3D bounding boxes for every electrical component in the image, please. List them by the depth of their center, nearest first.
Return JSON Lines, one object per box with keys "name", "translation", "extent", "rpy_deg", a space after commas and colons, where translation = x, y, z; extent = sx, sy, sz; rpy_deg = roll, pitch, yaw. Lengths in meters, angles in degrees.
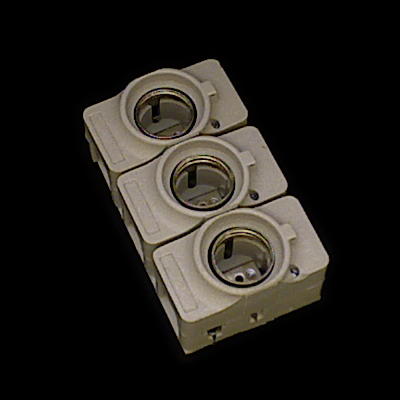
{"name": "electrical component", "translation": [0.000, 0.000, 0.632], "extent": [0.089, 0.149, 0.062], "rpy_deg": [-22, -24, -12]}
